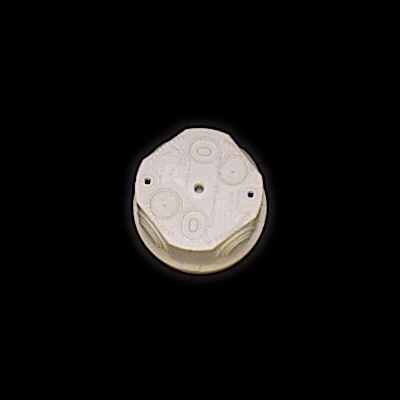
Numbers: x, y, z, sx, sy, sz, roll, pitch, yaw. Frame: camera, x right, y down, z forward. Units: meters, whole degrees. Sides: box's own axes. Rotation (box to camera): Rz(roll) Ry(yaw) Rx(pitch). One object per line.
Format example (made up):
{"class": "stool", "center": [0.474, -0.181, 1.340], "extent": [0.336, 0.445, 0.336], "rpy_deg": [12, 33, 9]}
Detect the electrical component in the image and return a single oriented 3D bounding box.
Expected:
{"class": "electrical component", "center": [0.000, 0.000, 0.632], "extent": [0.080, 0.080, 0.050], "rpy_deg": [0, -17, 1]}
